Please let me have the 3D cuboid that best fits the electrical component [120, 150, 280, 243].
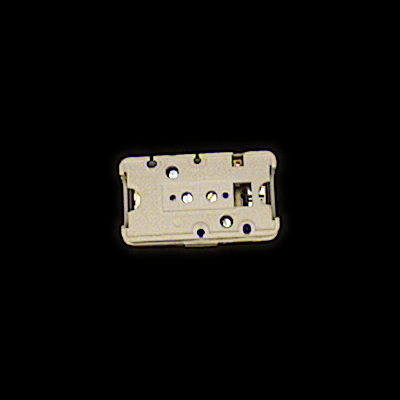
[{"bbox_3d":[0.000,0.000,0.637,0.090,0.050,0.055,-3,-6,-1],"label":"electrical component"}]
